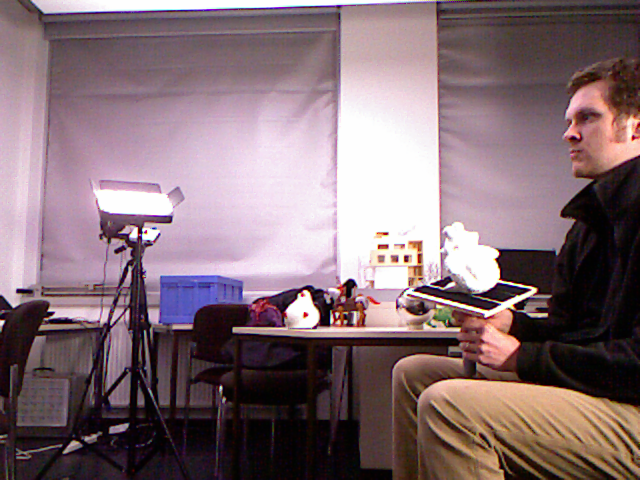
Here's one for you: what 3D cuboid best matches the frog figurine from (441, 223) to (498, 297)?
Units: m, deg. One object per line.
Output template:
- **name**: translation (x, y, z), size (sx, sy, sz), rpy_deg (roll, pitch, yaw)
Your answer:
- **frog figurine**: translation (0.340, 0.041, 1.162), size (0.138, 0.157, 0.124), rpy_deg (-10, 21, -17)
